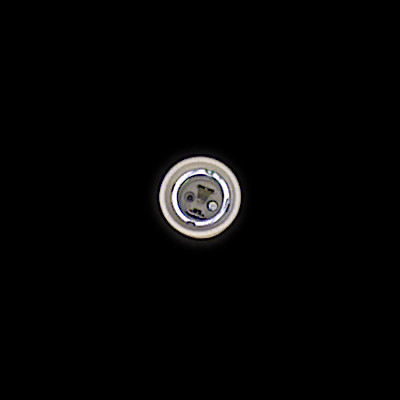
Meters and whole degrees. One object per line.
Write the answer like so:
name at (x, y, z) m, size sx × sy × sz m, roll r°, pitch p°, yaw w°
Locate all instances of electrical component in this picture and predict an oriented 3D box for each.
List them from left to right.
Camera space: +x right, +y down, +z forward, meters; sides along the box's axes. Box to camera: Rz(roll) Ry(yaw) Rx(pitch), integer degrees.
electrical component at (0.000, 0.000, 0.629) m, size 0.045 × 0.045 × 0.055 m, roll 0°, pitch -6°, yaw 1°
